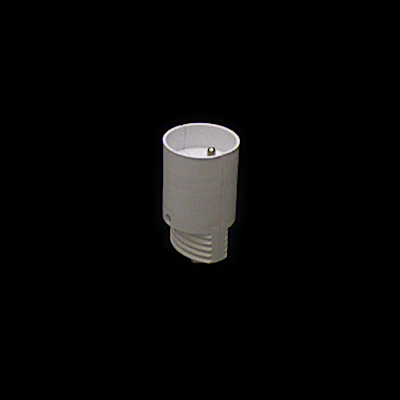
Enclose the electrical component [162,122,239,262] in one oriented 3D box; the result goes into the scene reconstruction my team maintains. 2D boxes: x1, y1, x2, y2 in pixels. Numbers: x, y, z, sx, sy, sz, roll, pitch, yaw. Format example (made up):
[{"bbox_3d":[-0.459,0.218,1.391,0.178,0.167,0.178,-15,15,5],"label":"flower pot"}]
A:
[{"bbox_3d":[0.000,0.000,0.628,0.043,0.082,0.042,1,32,0],"label":"electrical component"}]
